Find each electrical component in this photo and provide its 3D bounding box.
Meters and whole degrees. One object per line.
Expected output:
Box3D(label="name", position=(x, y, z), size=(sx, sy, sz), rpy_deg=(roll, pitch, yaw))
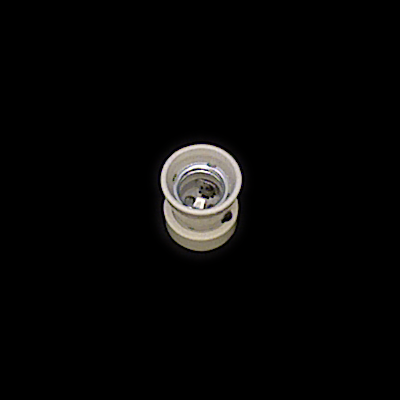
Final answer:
Box3D(label="electrical component", position=(0.000, 0.000, 0.628), size=(0.045, 0.045, 0.055), rpy_deg=(0, -27, -1))
